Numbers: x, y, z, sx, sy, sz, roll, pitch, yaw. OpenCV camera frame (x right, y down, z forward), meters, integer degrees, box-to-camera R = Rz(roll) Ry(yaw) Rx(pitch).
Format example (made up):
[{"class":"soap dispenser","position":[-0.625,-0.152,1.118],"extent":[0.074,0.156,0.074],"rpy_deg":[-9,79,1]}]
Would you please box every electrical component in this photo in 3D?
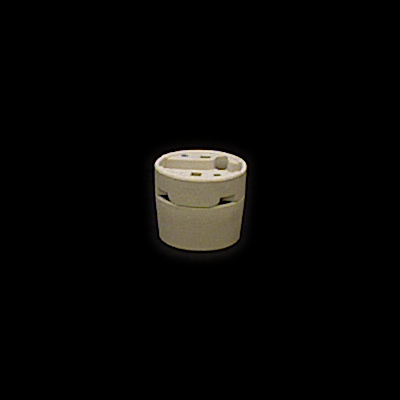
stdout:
[{"class":"electrical component","position":[0.000,0.000,0.643],"extent":[0.055,0.047,0.055],"rpy_deg":[1,21,0]}]
